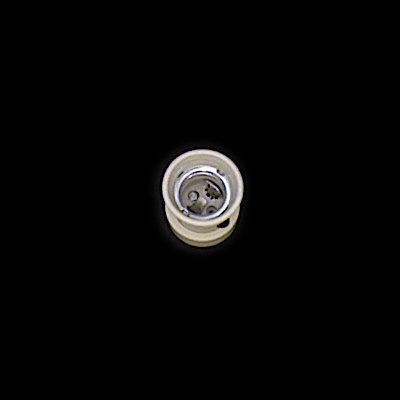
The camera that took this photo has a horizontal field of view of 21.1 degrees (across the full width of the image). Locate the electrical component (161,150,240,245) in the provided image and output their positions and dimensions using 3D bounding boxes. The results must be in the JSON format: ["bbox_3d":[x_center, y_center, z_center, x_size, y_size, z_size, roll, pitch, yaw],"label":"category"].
[{"bbox_3d":[0.000,0.000,0.628,0.045,0.045,0.055,0,-17,0],"label":"electrical component"}]
